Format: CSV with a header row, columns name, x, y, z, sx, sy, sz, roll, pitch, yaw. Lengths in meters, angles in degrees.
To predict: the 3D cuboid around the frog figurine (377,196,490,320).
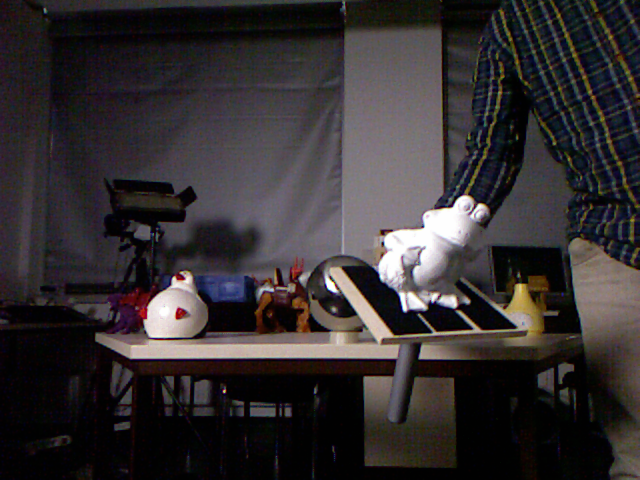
name,x,y,z,sx,sy,sz,roll,pitch,yaw
frog figurine,0.150,0.011,0.686,0.137,0.157,0.125,4,21,-12
